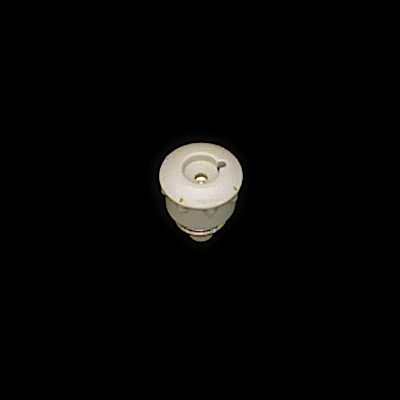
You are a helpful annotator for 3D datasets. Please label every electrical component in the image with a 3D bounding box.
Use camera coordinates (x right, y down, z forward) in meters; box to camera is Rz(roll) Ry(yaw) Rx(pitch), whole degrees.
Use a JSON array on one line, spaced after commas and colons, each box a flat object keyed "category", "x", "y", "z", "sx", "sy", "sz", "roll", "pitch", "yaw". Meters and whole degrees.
[{"category": "electrical component", "x": 0.000, "y": 0.000, "z": 0.636, "sx": 0.048, "sy": 0.048, "sz": 0.062, "roll": 0, "pitch": -37, "yaw": 0}]
